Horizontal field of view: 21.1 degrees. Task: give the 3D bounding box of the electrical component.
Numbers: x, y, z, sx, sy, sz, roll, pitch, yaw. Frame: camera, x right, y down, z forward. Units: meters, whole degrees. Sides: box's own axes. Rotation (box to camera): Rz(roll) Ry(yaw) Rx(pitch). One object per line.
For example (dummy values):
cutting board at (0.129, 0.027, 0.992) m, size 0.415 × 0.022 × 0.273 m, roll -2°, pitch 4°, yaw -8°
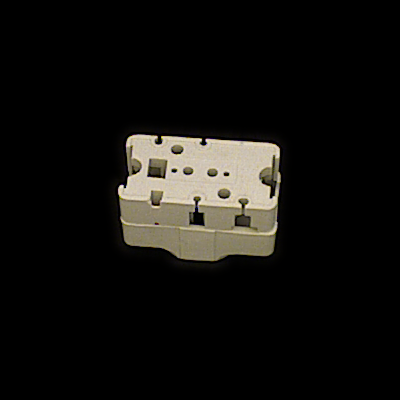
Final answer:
electrical component at (0.000, 0.000, 0.637) m, size 0.089 × 0.050 × 0.056 m, roll 4°, pitch -36°, yaw 3°
